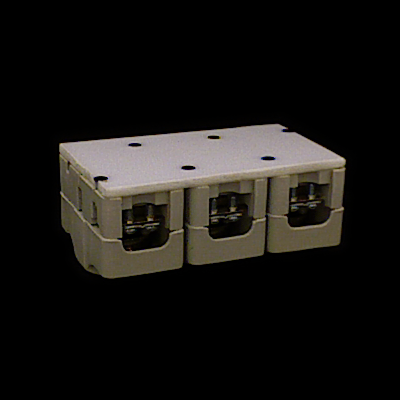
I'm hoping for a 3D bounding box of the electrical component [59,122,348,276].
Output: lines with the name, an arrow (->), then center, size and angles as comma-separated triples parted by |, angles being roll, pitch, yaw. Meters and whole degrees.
electrical component -> 0.000, 0.000, 0.648 | 0.150, 0.063, 0.088 | -7, 22, -22
